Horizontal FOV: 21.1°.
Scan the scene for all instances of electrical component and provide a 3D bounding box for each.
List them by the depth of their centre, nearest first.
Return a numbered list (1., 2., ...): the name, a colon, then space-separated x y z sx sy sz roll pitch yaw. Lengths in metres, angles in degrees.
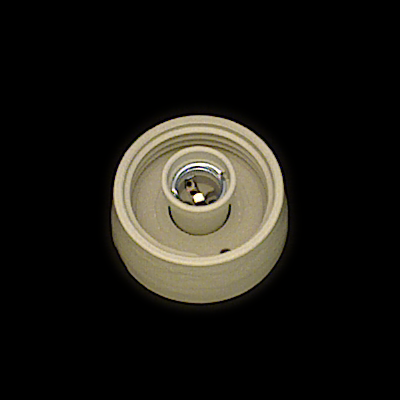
1. electrical component: 0.000 0.000 0.633 0.108 0.108 0.060 0 -26 -1
